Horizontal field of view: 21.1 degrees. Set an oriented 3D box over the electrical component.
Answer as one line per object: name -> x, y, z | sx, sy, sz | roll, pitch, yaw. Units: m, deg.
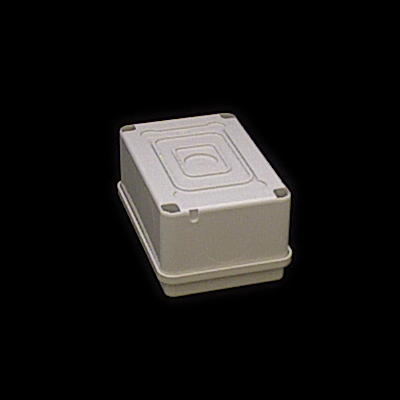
electrical component -> 0.000, 0.000, 0.635 | 0.078, 0.058, 0.111 | -8, 32, -15
